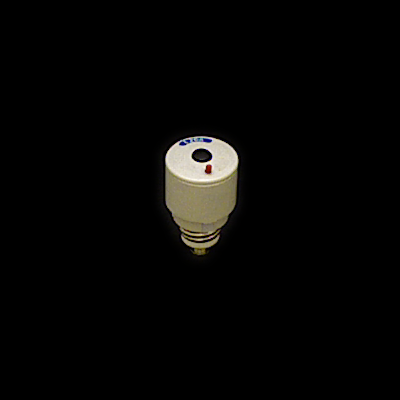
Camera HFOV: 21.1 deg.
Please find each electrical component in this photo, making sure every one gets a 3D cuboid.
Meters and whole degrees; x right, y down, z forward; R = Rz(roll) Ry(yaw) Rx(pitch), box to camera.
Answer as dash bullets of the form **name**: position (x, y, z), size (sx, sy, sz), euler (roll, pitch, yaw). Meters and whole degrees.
- **electrical component**: position (0.000, 0.000, 0.622), size (0.040, 0.079, 0.039), euler (1, 42, 0)
